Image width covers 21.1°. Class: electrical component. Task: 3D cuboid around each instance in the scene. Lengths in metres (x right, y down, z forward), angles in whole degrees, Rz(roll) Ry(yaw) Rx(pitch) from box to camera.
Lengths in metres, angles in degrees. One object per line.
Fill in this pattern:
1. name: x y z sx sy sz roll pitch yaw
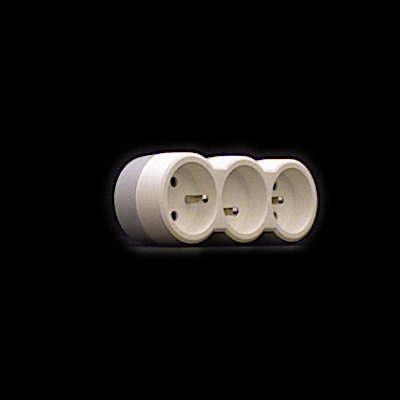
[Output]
1. electrical component: 0.000 0.000 0.647 0.073 0.052 0.138 -1 -1 44
